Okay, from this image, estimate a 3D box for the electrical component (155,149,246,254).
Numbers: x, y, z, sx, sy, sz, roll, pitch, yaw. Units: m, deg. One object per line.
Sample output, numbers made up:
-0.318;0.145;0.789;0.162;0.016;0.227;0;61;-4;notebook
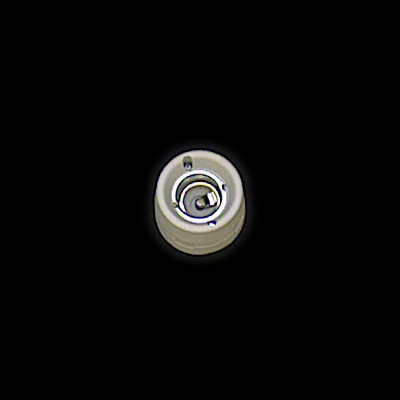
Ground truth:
0.000;0.000;0.632;0.055;0.056;0.047;0;-16;0;electrical component
